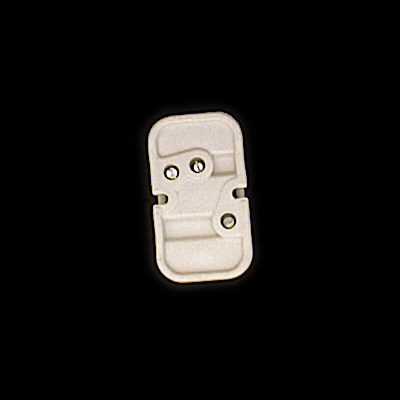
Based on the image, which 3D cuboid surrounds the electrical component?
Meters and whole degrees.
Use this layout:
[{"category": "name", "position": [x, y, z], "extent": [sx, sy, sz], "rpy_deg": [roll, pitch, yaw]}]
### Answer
[{"category": "electrical component", "position": [0.000, 0.000, 0.636], "extent": [0.054, 0.095, 0.059], "rpy_deg": [-5, -6, 0]}]
